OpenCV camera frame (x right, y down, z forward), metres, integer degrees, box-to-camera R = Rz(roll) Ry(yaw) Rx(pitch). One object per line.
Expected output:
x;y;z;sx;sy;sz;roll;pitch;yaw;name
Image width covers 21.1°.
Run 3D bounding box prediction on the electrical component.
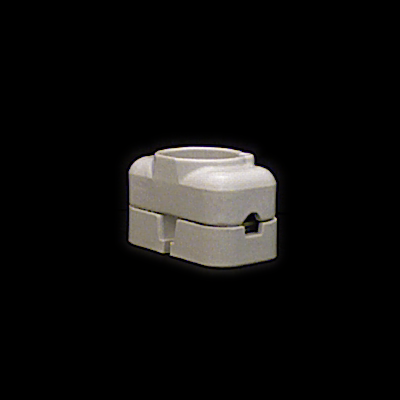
0.000;0.000;0.652;0.054;0.060;0.094;-10;16;-40;electrical component
